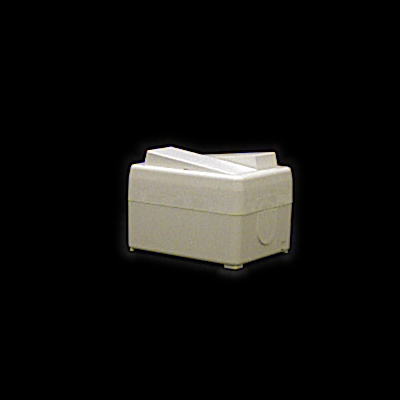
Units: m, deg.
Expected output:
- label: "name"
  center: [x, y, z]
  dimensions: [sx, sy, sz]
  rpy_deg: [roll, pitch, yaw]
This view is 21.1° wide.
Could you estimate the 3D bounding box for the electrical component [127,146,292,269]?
- label: "electrical component"
  center: [0.000, 0.000, 0.646]
  dimensions: [0.095, 0.061, 0.061]
  rpy_deg: [9, 13, 34]
